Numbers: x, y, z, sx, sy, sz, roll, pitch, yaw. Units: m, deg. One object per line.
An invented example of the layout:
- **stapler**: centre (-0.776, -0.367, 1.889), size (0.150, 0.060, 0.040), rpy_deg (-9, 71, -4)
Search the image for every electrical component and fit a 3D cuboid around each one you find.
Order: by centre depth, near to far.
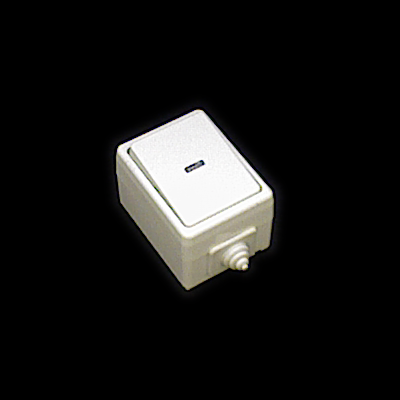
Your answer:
- **electrical component**: centre (0.000, 0.000, 0.626), size (0.062, 0.096, 0.061), rpy_deg (-27, -33, -20)
